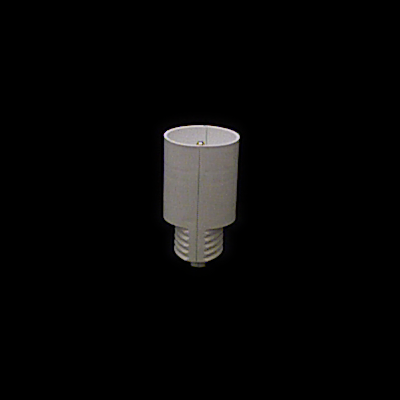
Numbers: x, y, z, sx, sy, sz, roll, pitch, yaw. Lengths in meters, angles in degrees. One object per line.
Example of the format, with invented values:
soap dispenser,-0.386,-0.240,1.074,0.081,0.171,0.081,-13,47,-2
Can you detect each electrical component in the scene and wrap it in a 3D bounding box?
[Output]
electrical component,0.000,0.000,0.633,0.043,0.082,0.042,0,22,0
